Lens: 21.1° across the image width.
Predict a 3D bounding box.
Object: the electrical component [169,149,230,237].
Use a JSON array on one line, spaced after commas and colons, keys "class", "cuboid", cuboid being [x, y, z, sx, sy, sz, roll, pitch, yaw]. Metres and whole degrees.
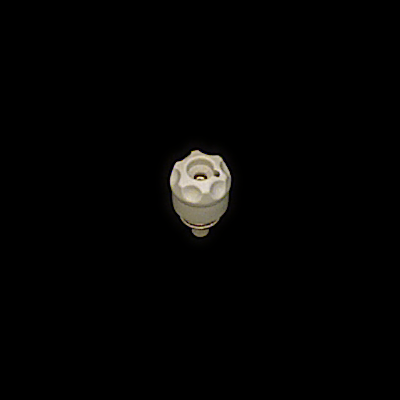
[{"class": "electrical component", "cuboid": [0.000, 0.000, 0.634, 0.035, 0.035, 0.061, 0, -37, 0]}]
